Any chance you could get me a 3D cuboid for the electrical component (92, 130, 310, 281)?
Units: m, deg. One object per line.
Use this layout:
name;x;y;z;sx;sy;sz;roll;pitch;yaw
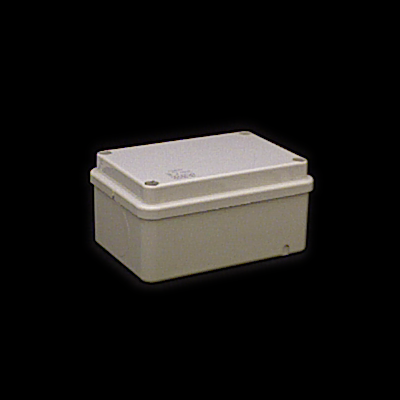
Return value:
electrical component;0.000;0.000;0.637;0.113;0.058;0.077;-10;23;-28
